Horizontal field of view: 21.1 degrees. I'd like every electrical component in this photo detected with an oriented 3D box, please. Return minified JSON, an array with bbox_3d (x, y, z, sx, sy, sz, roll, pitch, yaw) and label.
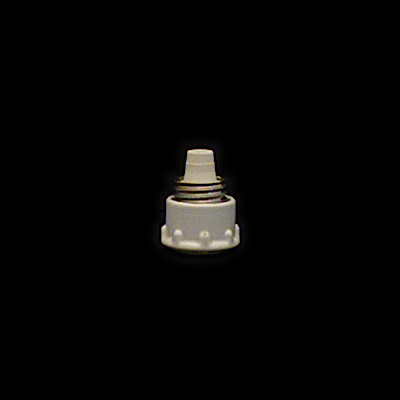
[{"bbox_3d":[0.000,0.000,0.650,0.048,0.062,0.048,0,11,1],"label":"electrical component"}]
